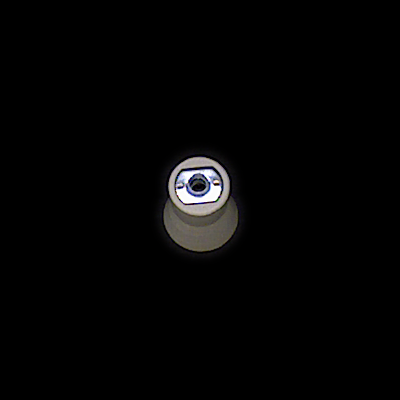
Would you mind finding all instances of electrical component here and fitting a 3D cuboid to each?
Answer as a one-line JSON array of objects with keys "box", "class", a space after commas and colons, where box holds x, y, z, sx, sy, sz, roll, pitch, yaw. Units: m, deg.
[{"box": [0.000, 0.000, 0.625, 0.044, 0.044, 0.065, 0, -18, 0], "class": "electrical component"}]
